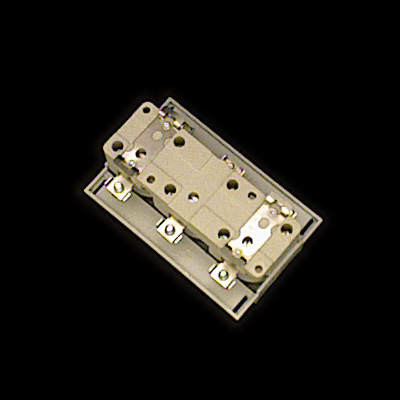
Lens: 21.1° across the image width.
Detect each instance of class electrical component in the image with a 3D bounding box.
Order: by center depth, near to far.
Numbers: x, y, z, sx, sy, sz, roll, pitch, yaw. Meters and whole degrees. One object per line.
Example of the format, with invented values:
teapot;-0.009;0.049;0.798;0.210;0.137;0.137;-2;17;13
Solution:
electrical component;0.000;0.000;0.634;0.121;0.079;0.063;39;-13;10
